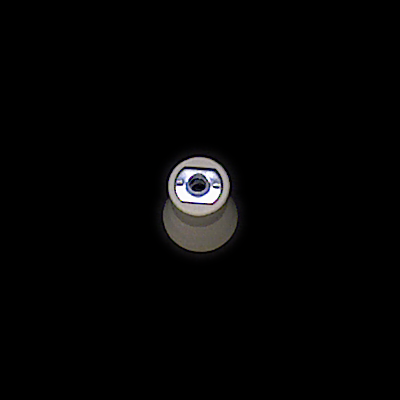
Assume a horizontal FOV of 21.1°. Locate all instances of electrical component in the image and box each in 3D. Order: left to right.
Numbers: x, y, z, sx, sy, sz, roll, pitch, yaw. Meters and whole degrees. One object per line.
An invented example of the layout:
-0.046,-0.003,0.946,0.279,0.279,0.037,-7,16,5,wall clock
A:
0.000,0.000,0.625,0.044,0.044,0.065,0,-18,0,electrical component
